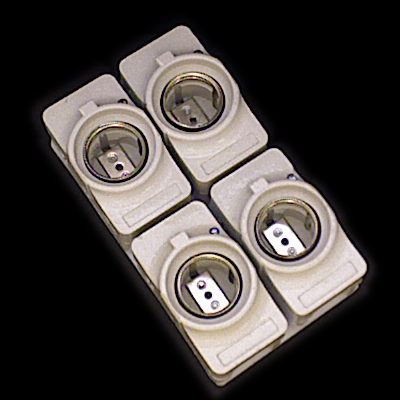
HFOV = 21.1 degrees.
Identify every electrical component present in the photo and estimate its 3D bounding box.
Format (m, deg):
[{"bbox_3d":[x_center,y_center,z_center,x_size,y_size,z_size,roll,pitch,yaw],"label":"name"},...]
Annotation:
[{"bbox_3d":[0.000,0.000,0.625,0.106,0.186,0.060,-33,-14,-9],"label":"electrical component"}]
